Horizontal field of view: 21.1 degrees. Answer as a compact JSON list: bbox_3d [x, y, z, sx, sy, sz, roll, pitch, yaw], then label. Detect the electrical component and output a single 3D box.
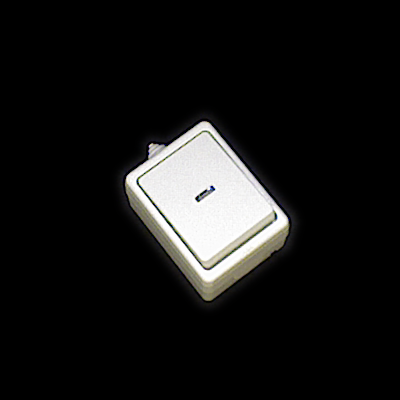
[{"bbox_3d":[0.000,0.000,0.626,0.062,0.096,0.060,-36,-14,-10],"label":"electrical component"}]
